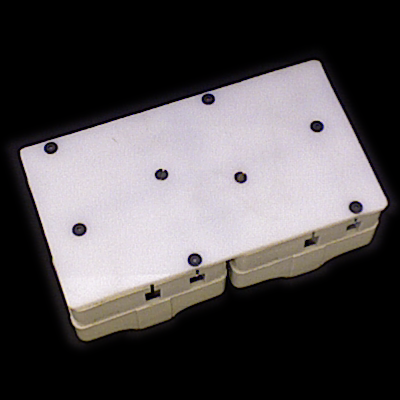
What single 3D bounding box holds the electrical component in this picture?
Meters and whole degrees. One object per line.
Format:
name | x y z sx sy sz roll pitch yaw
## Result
electrical component | 0.000 0.000 0.625 0.186 0.105 0.060 -18 -26 -9
